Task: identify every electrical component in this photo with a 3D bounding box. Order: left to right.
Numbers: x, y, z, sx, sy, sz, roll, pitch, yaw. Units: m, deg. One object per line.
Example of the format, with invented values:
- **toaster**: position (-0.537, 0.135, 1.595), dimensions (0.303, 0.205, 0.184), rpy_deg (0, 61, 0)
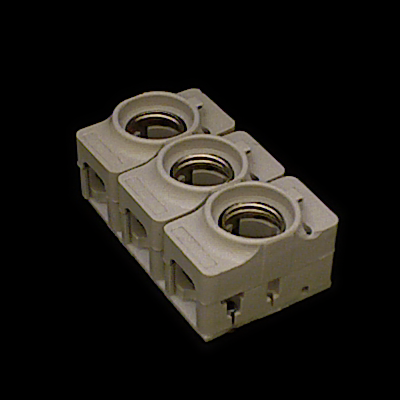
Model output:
- **electrical component**: position (0.000, 0.000, 0.637), dimensions (0.089, 0.063, 0.147), rpy_deg (-23, 47, -25)
